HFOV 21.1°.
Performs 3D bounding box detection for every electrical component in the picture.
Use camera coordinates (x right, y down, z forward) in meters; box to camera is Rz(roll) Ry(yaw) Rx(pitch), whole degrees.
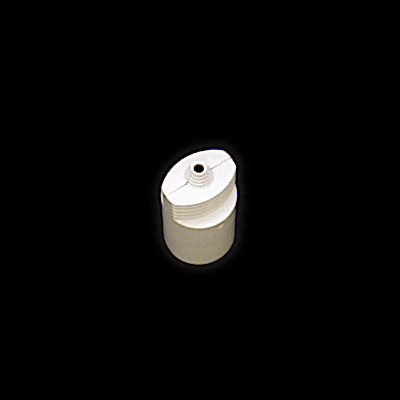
[{"bbox_3d":[0.000,0.000,0.617,0.043,0.043,0.081,0,-27,0],"label":"electrical component"}]
